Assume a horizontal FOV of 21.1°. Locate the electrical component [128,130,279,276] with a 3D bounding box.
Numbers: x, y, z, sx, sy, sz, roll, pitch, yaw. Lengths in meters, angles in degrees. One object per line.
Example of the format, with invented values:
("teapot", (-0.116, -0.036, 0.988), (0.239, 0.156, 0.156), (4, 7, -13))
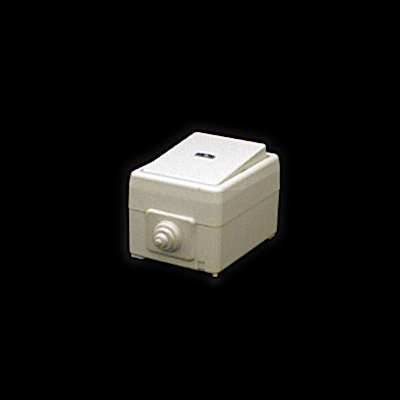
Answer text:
("electrical component", (0.000, 0.000, 0.637), (0.061, 0.061, 0.096), (12, 23, 27))
